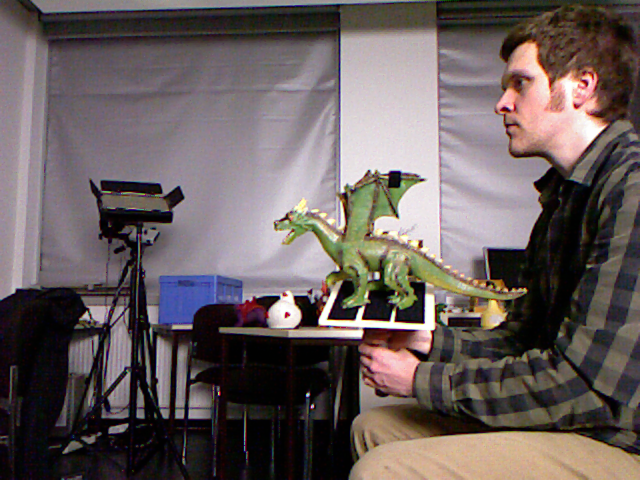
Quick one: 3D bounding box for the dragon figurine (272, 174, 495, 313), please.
[{"bbox_3d":[0.118,-0.002,0.957,0.411,0.240,0.124,-1,18,5],"label":"dragon figurine"}]
